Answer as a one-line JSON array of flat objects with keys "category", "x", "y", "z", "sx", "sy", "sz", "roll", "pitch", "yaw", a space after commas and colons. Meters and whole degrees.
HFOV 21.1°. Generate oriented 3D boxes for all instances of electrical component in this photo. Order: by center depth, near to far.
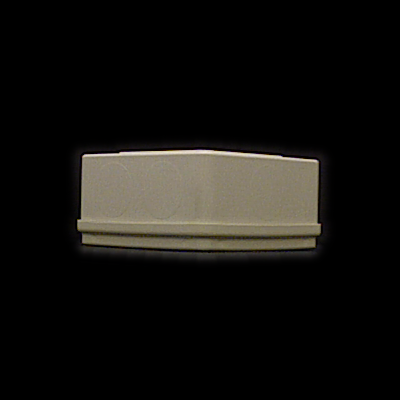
[{"category": "electrical component", "x": 0.000, "y": 0.000, "z": 0.647, "sx": 0.108, "sy": 0.056, "sz": 0.109, "roll": 1, "pitch": 1, "yaw": 43}]
